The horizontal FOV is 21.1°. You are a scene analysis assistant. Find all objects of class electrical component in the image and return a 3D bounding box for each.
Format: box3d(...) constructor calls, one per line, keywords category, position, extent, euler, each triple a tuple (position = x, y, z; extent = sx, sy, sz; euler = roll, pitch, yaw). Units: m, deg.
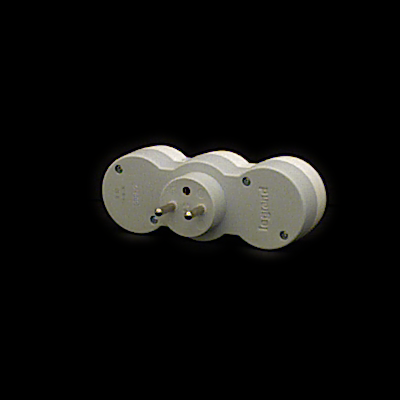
box3d(category="electrical component", position=(0.000, 0.000, 0.649), extent=(0.137, 0.052, 0.074), euler=(6, 14, 24))
